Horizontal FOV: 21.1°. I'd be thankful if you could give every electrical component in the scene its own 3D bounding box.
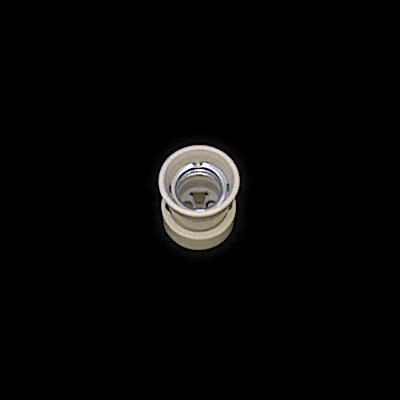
[{"bbox_3d":[0.000,0.000,0.627,0.045,0.045,0.055,0,-26,0],"label":"electrical component"}]
